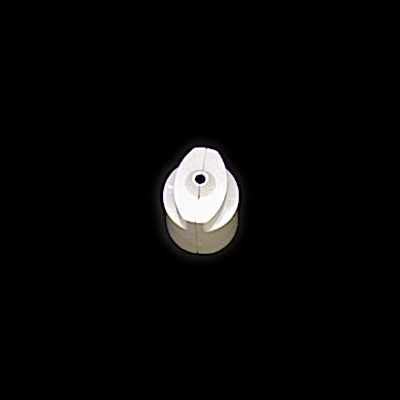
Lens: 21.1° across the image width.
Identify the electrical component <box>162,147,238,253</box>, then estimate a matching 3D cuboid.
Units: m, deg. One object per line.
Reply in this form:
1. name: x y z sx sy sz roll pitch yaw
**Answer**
1. electrical component: 0.000 0.000 0.616 0.043 0.043 0.080 0 -17 0
